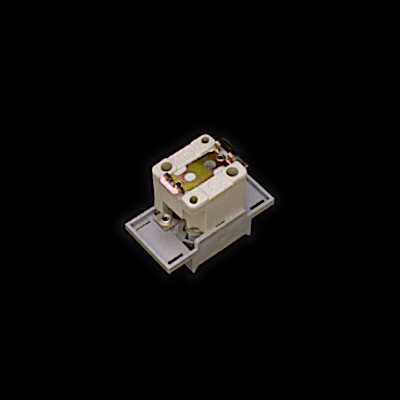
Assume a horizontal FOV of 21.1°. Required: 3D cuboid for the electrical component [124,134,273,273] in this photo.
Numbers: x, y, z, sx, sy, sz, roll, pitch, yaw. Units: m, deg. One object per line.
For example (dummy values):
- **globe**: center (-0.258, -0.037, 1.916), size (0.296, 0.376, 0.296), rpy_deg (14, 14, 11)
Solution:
- **electrical component**: center (0.000, 0.000, 0.626), size (0.081, 0.064, 0.042), rpy_deg (-33, 60, -23)
